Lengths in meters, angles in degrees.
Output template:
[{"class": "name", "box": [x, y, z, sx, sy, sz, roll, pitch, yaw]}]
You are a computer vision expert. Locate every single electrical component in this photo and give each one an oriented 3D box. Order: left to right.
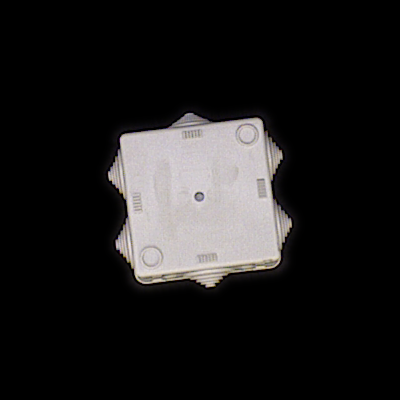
[{"class": "electrical component", "box": [0.000, 0.000, 0.632, 0.100, 0.100, 0.048, -7, -7, -1]}]
